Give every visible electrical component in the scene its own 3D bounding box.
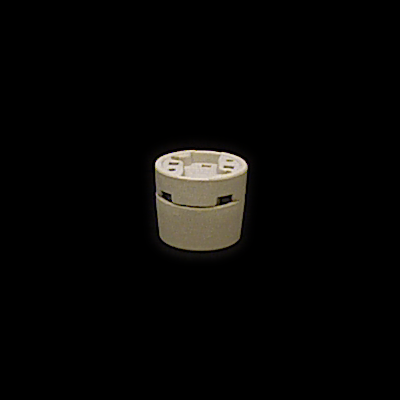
[{"bbox_3d":[0.000,0.000,0.643,0.055,0.047,0.055,1,22,0],"label":"electrical component"}]
